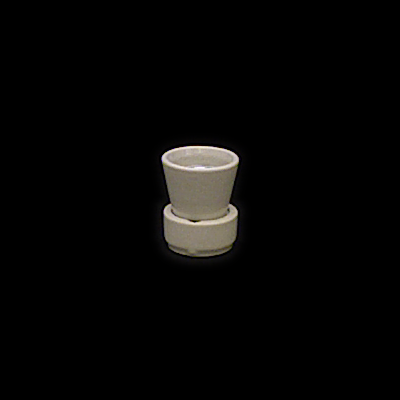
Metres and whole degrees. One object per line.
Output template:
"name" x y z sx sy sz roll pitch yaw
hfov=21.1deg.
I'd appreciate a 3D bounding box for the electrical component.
"electrical component" 0.000 0.000 0.638 0.045 0.056 0.044 1 21 0
